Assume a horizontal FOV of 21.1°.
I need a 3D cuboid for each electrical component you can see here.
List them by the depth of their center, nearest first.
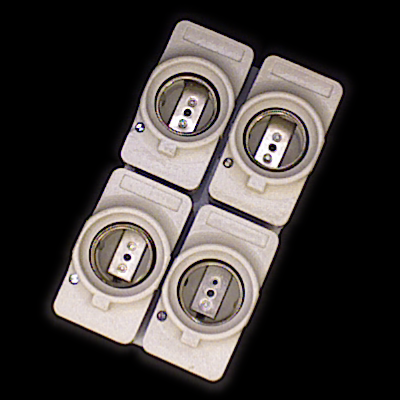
[{"bbox_3d":[0.000,0.000,0.626,0.105,0.187,0.060,23,-6,2],"label":"electrical component"}]
